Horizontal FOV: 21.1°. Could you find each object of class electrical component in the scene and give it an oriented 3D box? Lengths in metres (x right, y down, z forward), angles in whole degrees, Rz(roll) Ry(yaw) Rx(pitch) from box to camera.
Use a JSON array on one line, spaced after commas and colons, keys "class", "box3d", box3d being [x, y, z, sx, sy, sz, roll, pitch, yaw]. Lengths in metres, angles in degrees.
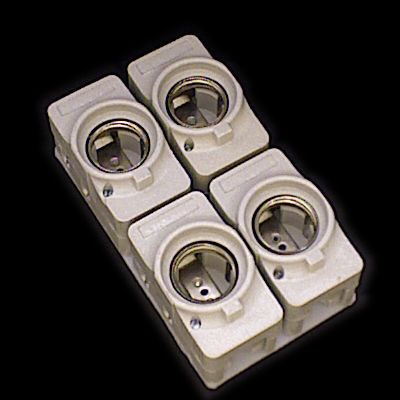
[{"class": "electrical component", "box3d": [0.000, 0.000, 0.626, 0.106, 0.186, 0.060, -29, -23, -14]}]
